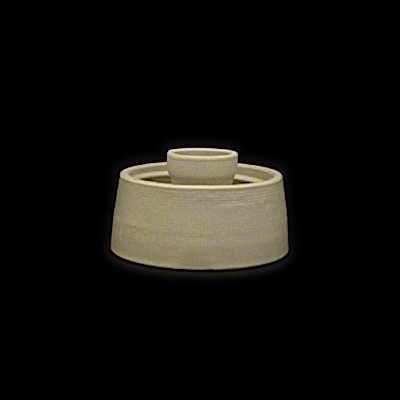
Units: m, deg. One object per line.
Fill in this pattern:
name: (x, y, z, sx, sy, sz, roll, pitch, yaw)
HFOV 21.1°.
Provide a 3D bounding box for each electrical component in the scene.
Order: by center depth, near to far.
electrical component: (0.000, 0.000, 0.649, 0.108, 0.061, 0.107, 1, 11, 0)
